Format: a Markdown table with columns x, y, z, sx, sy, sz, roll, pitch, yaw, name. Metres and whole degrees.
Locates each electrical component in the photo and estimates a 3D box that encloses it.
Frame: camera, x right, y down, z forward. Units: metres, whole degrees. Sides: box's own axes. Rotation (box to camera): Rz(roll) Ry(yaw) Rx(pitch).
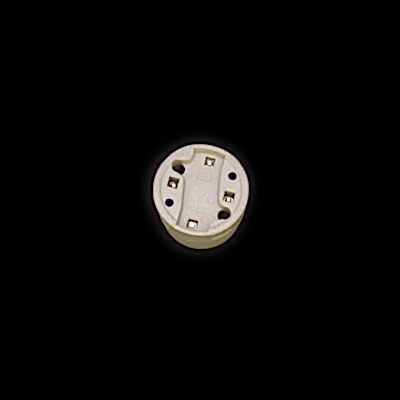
| x | y | z | sx | sy | sz | roll | pitch | yaw | name |
| --- | --- | --- | --- | --- | --- | --- | --- | --- | --- |
| 0.000 | 0.000 | 0.634 | 0.055 | 0.056 | 0.047 | 0 | -17 | 0 | electrical component |
